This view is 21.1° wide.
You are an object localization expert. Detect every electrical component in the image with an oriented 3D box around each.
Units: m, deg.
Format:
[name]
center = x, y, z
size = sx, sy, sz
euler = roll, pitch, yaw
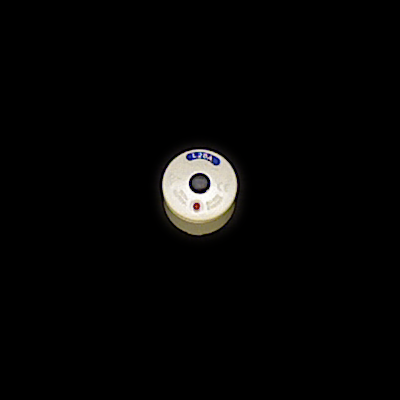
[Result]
[electrical component]
center = 0.000, 0.000, 0.616
size = 0.040, 0.040, 0.078
euler = 0, -16, 0
